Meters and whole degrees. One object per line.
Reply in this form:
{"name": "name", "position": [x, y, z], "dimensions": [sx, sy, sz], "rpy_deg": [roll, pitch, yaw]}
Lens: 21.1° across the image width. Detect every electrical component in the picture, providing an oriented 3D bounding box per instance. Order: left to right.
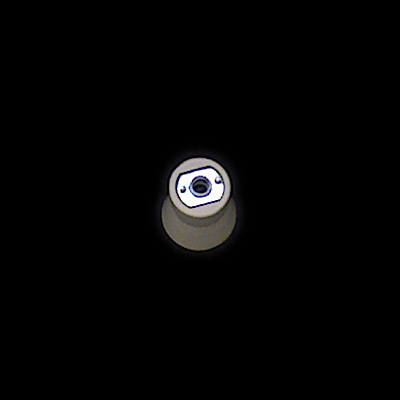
{"name": "electrical component", "position": [0.000, 0.000, 0.624], "dimensions": [0.044, 0.044, 0.065], "rpy_deg": [0, -16, -1]}
